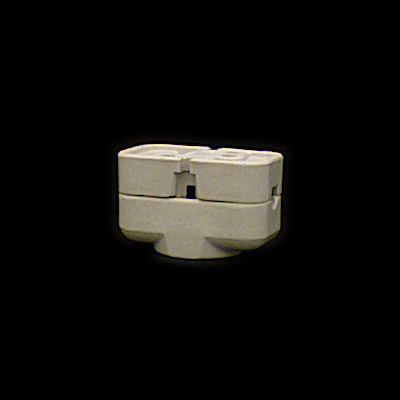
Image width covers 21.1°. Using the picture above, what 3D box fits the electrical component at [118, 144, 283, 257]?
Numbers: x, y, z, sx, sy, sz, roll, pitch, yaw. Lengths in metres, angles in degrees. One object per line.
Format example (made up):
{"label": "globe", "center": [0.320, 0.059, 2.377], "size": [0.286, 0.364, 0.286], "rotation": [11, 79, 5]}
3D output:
{"label": "electrical component", "center": [0.000, 0.000, 0.654], "size": [0.094, 0.060, 0.053], "rotation": [5, 12, 19]}
